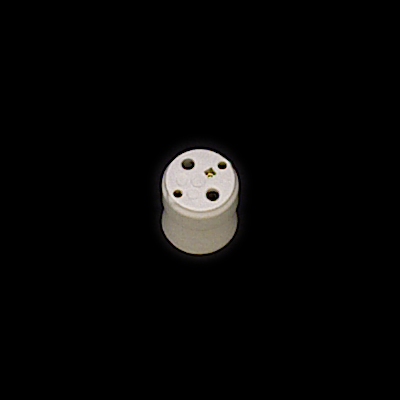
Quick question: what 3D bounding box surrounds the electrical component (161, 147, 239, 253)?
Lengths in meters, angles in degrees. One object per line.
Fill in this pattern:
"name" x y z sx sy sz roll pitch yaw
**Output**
"electrical component" 0.000 0.000 0.628 0.045 0.045 0.055 0 -26 0
